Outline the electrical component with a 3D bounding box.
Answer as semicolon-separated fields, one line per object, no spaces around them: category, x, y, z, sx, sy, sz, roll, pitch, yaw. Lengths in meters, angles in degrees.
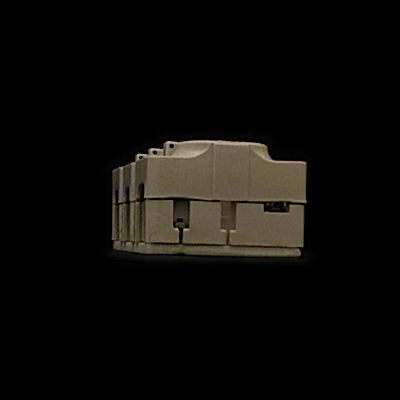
electrical component;0.000;0.000;0.655;0.090;0.062;0.150;1;-1;-13
